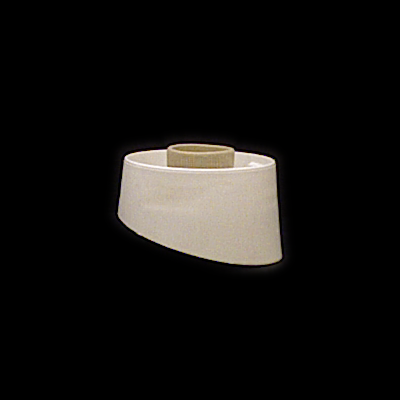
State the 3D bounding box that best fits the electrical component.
[{"bbox_3d":[0.000,0.000,0.643,0.099,0.064,0.098,2,10,0],"label":"electrical component"}]
